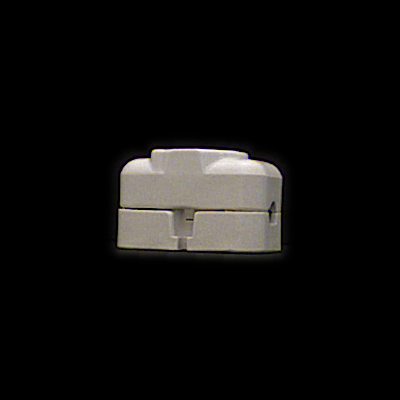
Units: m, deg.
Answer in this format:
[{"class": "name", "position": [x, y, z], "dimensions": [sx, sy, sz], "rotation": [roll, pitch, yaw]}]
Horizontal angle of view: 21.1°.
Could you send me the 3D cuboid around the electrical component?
[{"class": "electrical component", "position": [0.000, 0.000, 0.655], "dimensions": [0.094, 0.059, 0.054], "rotation": [1, 1, 21]}]
